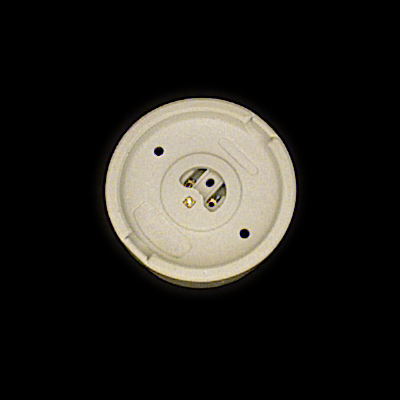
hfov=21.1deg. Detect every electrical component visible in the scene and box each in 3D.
[{"bbox_3d":[0.000,0.000,0.633,0.108,0.108,0.060,0,-16,0],"label":"electrical component"}]
